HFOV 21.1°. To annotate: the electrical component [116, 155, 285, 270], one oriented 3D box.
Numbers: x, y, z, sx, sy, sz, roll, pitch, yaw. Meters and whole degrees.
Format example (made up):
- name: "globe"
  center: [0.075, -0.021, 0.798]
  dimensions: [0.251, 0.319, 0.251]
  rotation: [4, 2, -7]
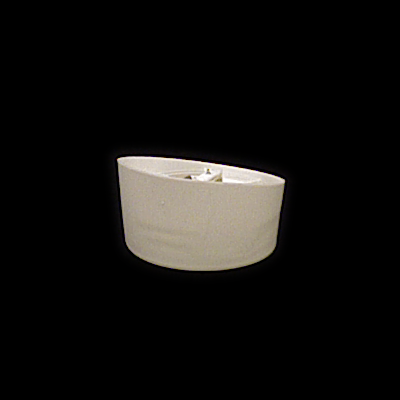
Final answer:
- name: "electrical component"
  center: [0.000, 0.000, 0.636]
  dimensions: [0.099, 0.065, 0.097]
  rotation: [1, 22, 0]
